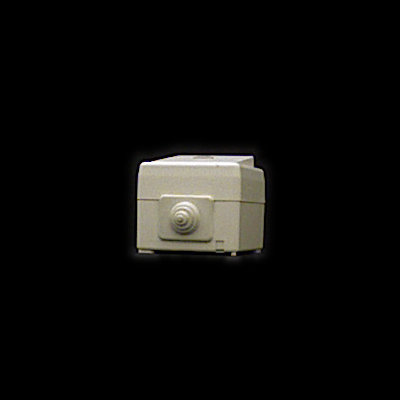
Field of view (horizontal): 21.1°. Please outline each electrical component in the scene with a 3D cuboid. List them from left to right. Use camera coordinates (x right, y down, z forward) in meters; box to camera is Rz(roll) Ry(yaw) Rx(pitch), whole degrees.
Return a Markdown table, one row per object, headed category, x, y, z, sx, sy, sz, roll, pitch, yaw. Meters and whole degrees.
| category | x | y | z | sx | sy | sz | roll | pitch | yaw |
| --- | --- | --- | --- | --- | --- | --- | --- | --- | --- |
| electrical component | 0.000 | 0.000 | 0.648 | 0.061 | 0.061 | 0.096 | 1 | 0 | 14 |
